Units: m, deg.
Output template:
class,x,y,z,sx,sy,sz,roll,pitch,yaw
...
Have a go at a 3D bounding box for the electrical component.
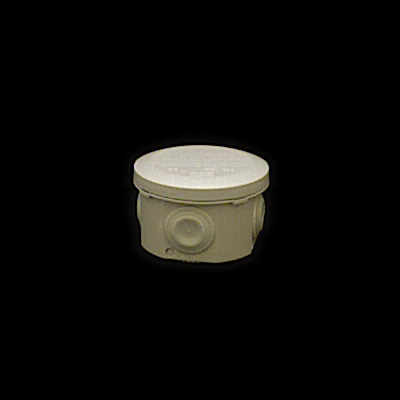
class,x,y,z,sx,sy,sz,roll,pitch,yaw
electrical component,0.000,0.000,0.640,0.080,0.051,0.079,1,21,0
